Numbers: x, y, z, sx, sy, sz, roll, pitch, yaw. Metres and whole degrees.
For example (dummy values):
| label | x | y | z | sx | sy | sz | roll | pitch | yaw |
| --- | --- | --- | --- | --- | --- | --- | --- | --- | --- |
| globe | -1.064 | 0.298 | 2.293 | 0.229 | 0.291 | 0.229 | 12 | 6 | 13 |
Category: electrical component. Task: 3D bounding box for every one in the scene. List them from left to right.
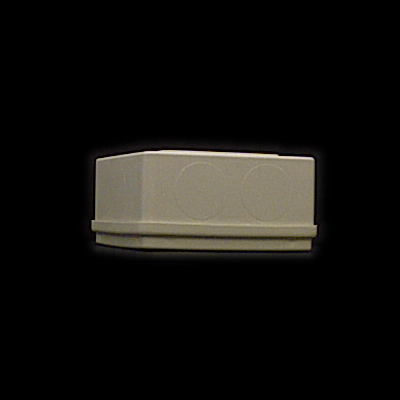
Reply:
| label | x | y | z | sx | sy | sz | roll | pitch | yaw |
| --- | --- | --- | --- | --- | --- | --- | --- | --- | --- |
| electrical component | 0.000 | 0.000 | 0.648 | 0.109 | 0.056 | 0.108 | 1 | 0 | -22 |
